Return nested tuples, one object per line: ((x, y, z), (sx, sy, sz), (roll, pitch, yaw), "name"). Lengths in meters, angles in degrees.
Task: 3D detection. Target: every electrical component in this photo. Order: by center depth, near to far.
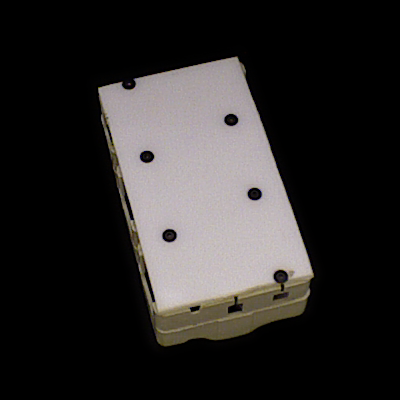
((0.000, 0.000, 0.632), (0.090, 0.148, 0.062), (-13, -27, -7), "electrical component")
